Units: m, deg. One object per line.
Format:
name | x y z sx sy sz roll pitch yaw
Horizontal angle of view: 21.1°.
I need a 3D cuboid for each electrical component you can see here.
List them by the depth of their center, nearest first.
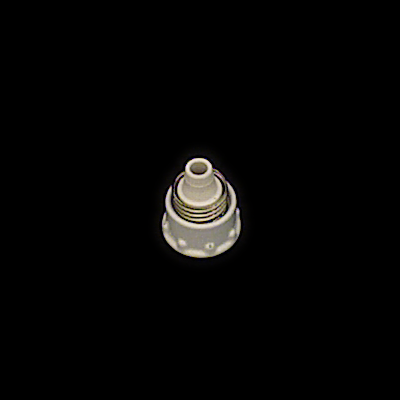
electrical component | 0.000 0.000 0.634 0.048 0.048 0.062 0 -38 1
